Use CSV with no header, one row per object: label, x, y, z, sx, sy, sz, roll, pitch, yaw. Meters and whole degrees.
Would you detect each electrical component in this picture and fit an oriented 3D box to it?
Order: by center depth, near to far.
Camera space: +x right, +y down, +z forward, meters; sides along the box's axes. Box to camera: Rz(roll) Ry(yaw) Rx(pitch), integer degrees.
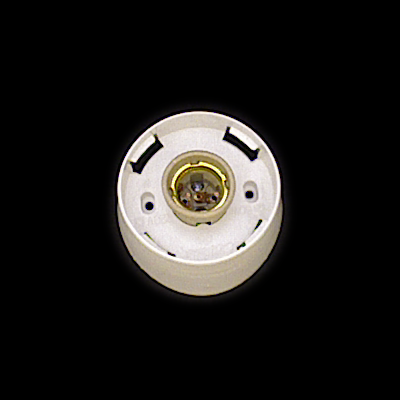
electrical component,0.000,0.000,0.625,0.099,0.099,0.064,0,-16,0
